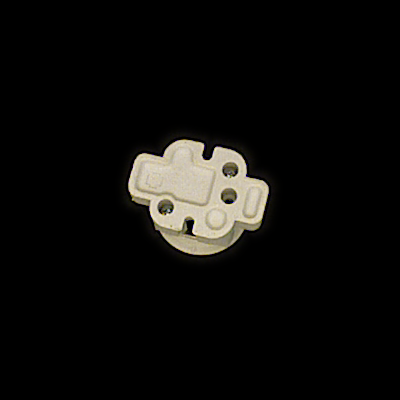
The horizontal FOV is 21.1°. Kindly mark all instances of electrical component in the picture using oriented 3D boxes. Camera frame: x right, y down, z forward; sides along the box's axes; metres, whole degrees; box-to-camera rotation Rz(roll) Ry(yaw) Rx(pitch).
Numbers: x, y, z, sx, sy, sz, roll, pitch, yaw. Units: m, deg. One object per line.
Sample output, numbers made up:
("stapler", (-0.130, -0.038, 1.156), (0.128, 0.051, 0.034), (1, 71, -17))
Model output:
("electrical component", (0.000, 0.000, 0.635), (0.078, 0.058, 0.056), (12, -15, 5))
